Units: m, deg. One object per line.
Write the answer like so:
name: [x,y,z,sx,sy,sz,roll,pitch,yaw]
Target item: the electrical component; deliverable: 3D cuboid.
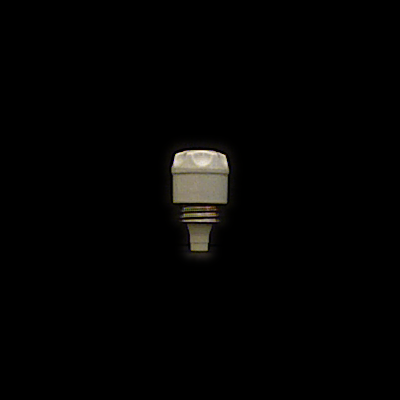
electrical component: [0.000,0.000,0.658,0.035,0.061,0.035,1,1,1]
